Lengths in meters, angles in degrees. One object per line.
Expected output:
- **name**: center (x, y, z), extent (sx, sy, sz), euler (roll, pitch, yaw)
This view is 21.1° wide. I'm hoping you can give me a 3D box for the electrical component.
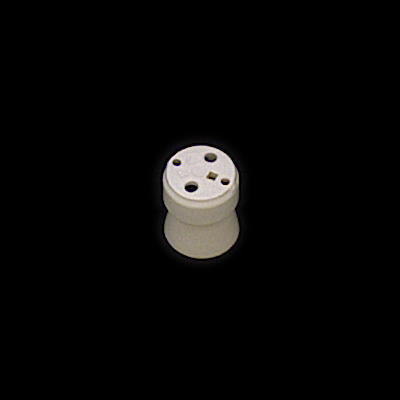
- **electrical component**: center (0.000, 0.000, 0.629), extent (0.045, 0.044, 0.055), euler (0, -37, 0)
